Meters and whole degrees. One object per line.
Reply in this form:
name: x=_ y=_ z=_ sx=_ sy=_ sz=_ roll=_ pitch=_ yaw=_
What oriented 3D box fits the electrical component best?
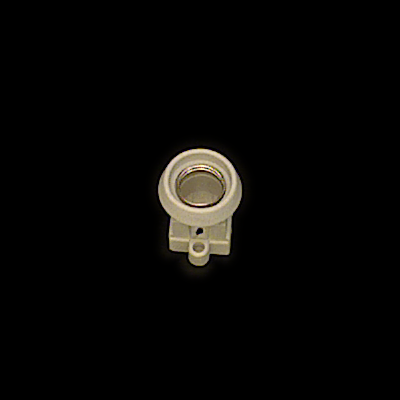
electrical component: x=0.000 y=0.000 z=0.637 sx=0.048 sy=0.066 sz=0.055 roll=4 pitch=-26 yaw=0
